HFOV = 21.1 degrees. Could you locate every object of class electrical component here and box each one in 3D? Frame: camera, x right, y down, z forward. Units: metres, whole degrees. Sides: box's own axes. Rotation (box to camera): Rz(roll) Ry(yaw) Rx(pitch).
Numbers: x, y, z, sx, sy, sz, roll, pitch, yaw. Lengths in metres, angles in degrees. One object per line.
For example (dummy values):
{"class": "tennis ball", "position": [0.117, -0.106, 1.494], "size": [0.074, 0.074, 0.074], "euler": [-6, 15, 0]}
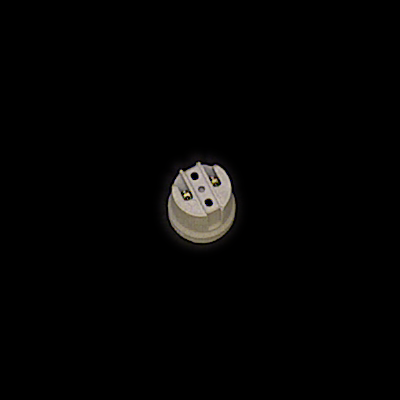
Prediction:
{"class": "electrical component", "position": [0.000, 0.000, 0.634], "size": [0.040, 0.040, 0.046], "euler": [0, -16, 0]}
